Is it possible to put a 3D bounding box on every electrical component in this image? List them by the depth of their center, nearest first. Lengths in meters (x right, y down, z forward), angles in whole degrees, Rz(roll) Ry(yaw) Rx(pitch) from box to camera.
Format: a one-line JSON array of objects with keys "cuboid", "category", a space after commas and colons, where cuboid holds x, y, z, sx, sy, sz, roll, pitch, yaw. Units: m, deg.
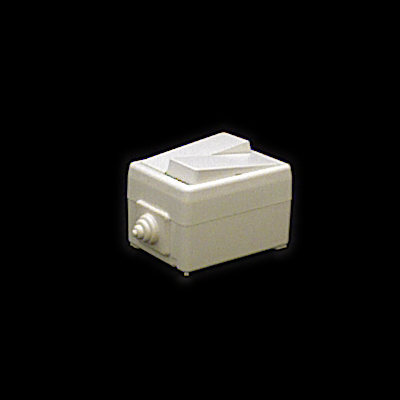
[{"cuboid": [0.000, 0.000, 0.637, 0.096, 0.061, 0.061, -14, 25, -35], "category": "electrical component"}]
